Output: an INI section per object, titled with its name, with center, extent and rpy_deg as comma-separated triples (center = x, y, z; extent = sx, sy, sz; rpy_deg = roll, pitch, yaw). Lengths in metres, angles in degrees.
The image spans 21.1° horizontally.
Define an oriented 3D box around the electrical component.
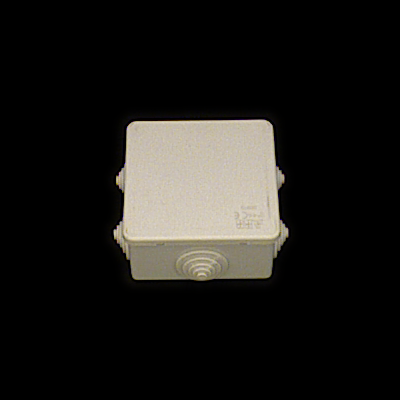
[electrical component]
center = 0.000, 0.000, 0.640
extent = 0.100, 0.099, 0.049
rpy_deg = 0, -37, -1
